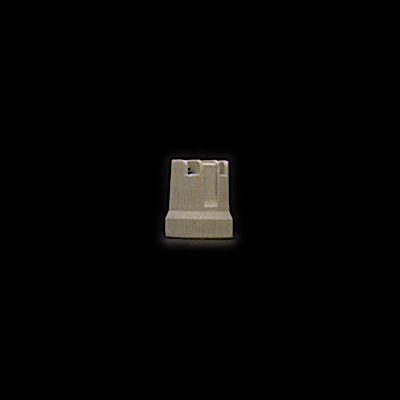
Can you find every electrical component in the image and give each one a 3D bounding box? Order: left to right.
[{"bbox_3d":[0.000,0.000,0.648,0.040,0.046,0.040,1,1,0],"label":"electrical component"}]
